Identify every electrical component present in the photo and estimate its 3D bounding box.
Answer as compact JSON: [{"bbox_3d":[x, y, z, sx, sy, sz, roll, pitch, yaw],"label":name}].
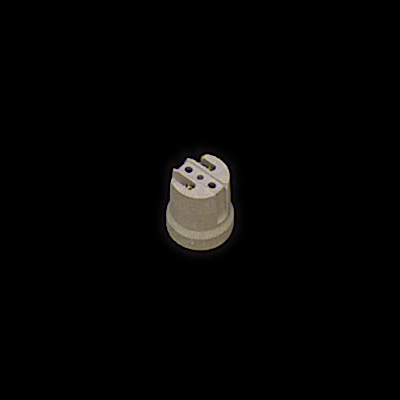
[{"bbox_3d":[0.000,0.000,0.635,0.040,0.040,0.046,0,-37,-1],"label":"electrical component"}]
